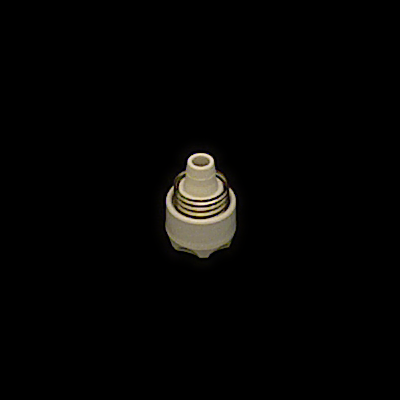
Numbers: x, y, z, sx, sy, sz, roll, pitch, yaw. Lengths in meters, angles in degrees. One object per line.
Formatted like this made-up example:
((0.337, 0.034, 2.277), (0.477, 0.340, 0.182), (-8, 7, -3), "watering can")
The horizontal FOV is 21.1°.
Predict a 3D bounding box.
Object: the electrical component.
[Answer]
((0.000, 0.000, 0.638), (0.043, 0.062, 0.043), (1, 41, 0), "electrical component")
